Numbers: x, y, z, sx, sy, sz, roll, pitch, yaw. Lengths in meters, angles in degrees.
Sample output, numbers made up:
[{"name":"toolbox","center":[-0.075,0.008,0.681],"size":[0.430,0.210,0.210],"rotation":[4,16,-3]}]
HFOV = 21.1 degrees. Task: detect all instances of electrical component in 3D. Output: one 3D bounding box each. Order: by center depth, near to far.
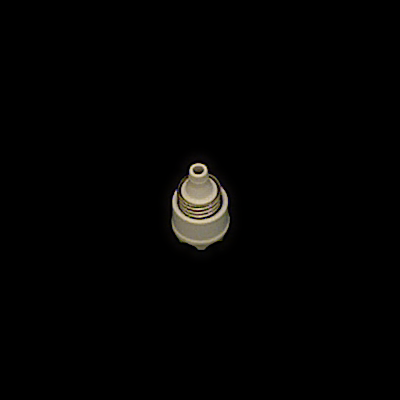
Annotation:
[{"name":"electrical component","center":[0.000,0.000,0.639],"size":[0.035,0.035,0.062],"rotation":[0,-37,2]}]
